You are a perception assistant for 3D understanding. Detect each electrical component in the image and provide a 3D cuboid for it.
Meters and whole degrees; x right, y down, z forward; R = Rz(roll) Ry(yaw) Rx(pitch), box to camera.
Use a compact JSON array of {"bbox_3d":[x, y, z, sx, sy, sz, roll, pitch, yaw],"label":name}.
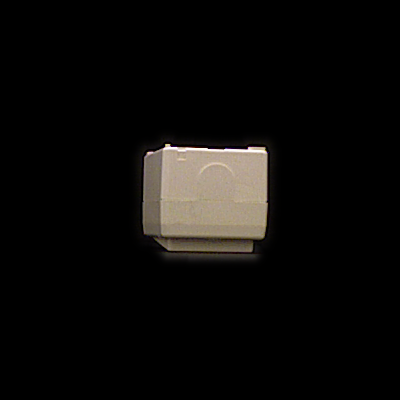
[{"bbox_3d":[0.000,0.000,0.652,0.062,0.061,0.096,1,-1,-11],"label":"electrical component"}]
